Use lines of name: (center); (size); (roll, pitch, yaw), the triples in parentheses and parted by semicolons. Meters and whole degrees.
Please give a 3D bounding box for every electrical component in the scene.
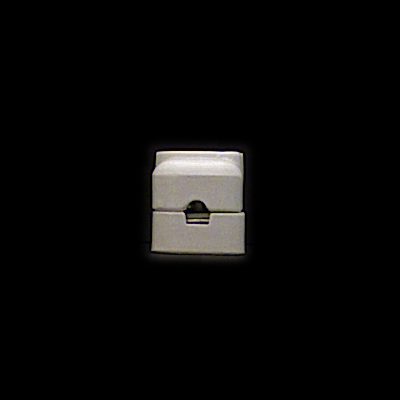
electrical component: (0.000, 0.000, 0.657); (0.054, 0.059, 0.095); (1, 1, 1)
